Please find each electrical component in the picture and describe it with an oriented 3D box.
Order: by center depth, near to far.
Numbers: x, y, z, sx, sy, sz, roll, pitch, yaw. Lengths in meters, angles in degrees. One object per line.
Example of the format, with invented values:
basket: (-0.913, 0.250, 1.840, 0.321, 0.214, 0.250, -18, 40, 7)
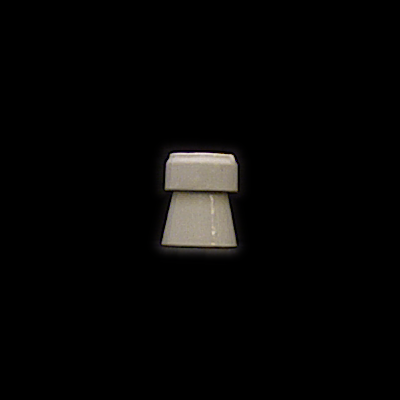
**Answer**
electrical component: (0.000, 0.000, 0.651, 0.045, 0.055, 0.045, 2, 1, 0)
